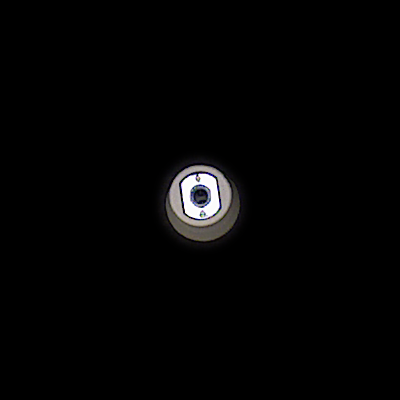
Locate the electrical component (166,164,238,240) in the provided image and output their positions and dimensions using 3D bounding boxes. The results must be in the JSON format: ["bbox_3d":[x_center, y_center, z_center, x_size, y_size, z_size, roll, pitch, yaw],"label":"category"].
[{"bbox_3d":[0.000,0.000,0.626,0.044,0.044,0.065,0,-6,2],"label":"electrical component"}]
